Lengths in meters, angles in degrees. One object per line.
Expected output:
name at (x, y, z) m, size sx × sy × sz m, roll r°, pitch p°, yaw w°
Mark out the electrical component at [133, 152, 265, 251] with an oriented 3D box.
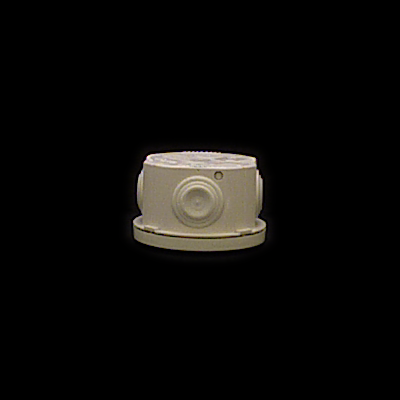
electrical component at (0.000, 0.000, 0.646) m, size 0.080 × 0.051 × 0.079 m, roll 2°, pitch 10°, yaw 0°
